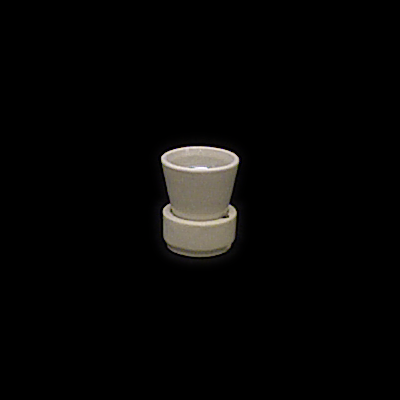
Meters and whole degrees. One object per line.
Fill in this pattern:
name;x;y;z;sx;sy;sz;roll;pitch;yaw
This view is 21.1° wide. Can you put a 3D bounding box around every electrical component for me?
electrical component;0.000;0.000;0.638;0.045;0.056;0.044;0;22;0
